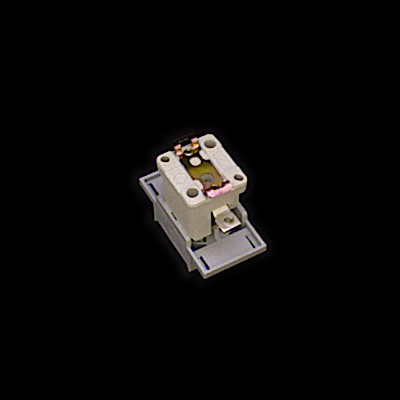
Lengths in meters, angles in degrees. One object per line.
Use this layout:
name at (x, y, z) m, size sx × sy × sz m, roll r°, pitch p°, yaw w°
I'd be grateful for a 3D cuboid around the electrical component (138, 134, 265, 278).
electrical component at (0.000, 0.000, 0.627) m, size 0.042 × 0.080 × 0.064 m, roll -25°, pitch -33°, yaw -18°
